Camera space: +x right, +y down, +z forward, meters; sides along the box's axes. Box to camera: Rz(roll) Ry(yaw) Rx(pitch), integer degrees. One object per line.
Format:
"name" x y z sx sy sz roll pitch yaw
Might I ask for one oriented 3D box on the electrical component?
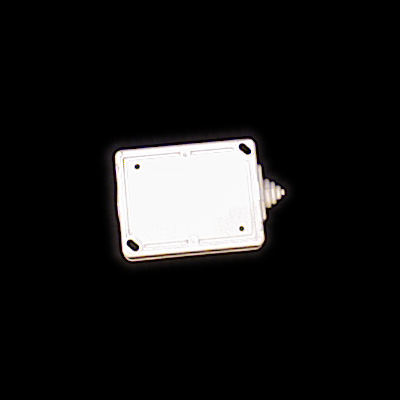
"electrical component" 0.000 0.000 0.629 0.096 0.062 0.061 -5 -7 -1
